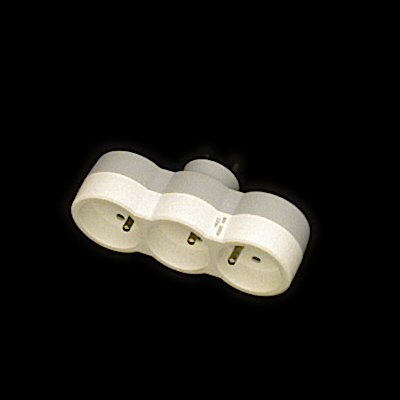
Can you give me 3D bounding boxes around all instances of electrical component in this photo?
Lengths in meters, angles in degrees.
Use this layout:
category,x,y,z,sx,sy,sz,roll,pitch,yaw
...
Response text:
category,x,y,z,sx,sy,sz,roll,pitch,yaw
electrical component,0.000,0.000,0.640,0.137,0.073,0.052,17,-37,12
